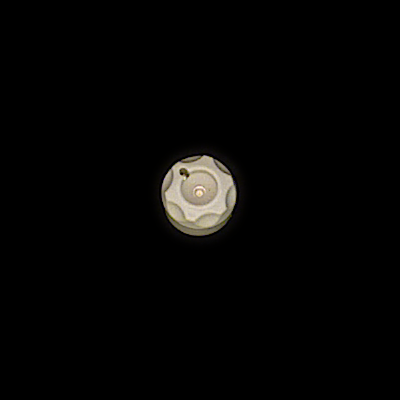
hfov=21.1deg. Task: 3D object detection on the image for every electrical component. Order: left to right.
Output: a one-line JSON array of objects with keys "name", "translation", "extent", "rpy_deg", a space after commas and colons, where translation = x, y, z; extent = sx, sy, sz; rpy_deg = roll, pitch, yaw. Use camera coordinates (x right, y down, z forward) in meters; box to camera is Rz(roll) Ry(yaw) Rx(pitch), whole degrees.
[{"name": "electrical component", "translation": [0.000, 0.000, 0.634], "extent": [0.043, 0.043, 0.061], "rpy_deg": [0, -15, 0]}]
